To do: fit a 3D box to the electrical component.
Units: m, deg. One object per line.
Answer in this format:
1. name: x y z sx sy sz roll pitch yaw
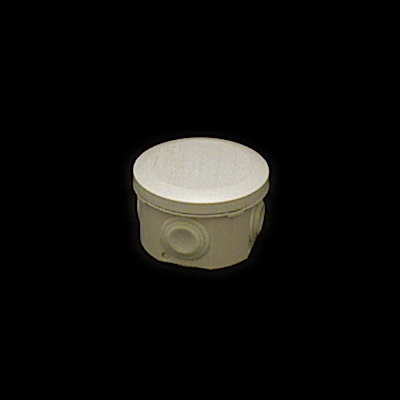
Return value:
1. electrical component: 0.000 0.000 0.639 0.080 0.051 0.079 1 31 0
